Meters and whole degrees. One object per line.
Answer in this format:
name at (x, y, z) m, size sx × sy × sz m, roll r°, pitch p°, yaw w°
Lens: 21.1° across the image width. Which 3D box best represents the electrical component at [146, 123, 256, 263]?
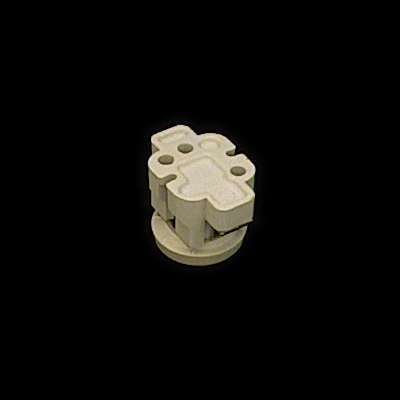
electrical component at (0.000, 0.000, 0.639) m, size 0.058 × 0.057 × 0.077 m, roll -24°, pitch 50°, yaw -25°
